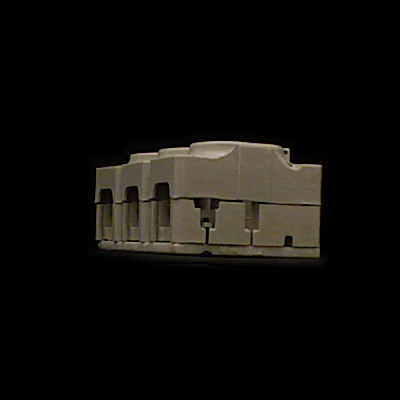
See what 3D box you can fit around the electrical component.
[{"bbox_3d":[0.000,0.000,0.658,0.090,0.062,0.150,2,0,-23],"label":"electrical component"}]
